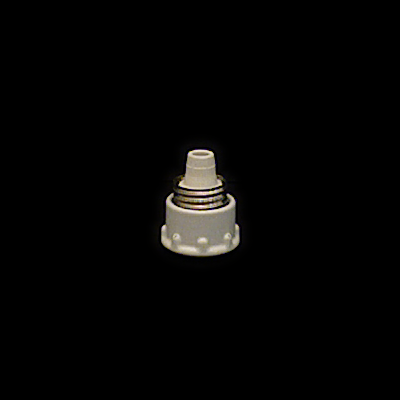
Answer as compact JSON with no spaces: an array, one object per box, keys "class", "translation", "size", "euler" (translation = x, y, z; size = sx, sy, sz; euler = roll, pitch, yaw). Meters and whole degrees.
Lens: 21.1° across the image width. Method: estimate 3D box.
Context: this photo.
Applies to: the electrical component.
[{"class":"electrical component","translation":[0.000,0.000,0.647],"size":[0.048,0.063,0.047],"euler":[1,21,0]}]
